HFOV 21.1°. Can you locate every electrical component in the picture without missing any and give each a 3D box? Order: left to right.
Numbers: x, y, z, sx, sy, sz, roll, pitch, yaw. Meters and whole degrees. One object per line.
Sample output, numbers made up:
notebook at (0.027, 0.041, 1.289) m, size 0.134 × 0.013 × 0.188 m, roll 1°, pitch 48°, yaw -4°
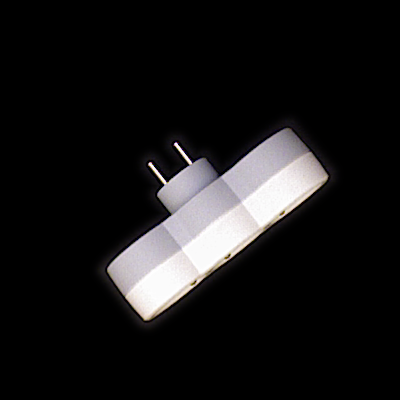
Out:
electrical component at (0.000, 0.000, 0.631) m, size 0.138 × 0.074 × 0.052 m, roll -38°, pitch -7°, yaw -4°
